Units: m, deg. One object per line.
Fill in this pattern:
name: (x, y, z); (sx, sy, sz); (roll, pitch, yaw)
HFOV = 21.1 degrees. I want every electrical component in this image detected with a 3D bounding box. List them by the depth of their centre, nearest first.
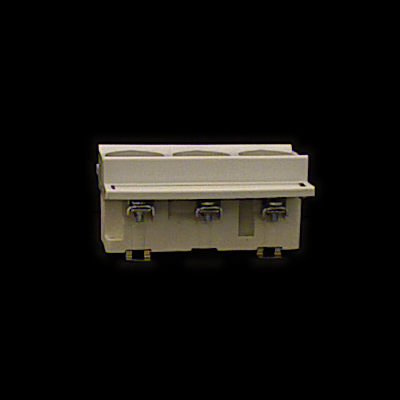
electrical component: (0.000, 0.000, 0.656); (0.121, 0.063, 0.078); (-1, 13, -9)
